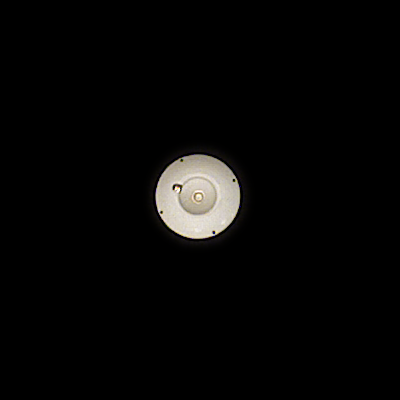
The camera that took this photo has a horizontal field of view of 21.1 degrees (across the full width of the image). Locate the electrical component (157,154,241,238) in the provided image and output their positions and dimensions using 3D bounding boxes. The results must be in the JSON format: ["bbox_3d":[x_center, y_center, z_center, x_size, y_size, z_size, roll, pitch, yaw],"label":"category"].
[{"bbox_3d":[0.000,0.000,0.634,0.048,0.048,0.061,0,-6,1],"label":"electrical component"}]
